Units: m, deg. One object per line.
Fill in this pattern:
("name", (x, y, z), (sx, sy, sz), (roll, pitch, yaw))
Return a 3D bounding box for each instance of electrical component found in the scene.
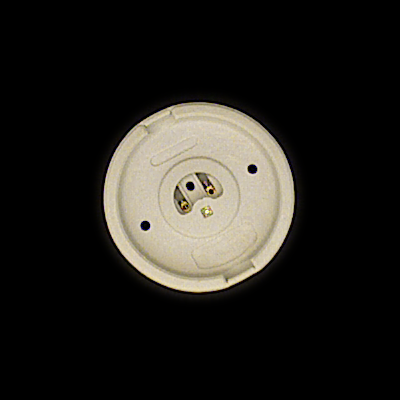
("electrical component", (0.000, 0.000, 0.634), (0.108, 0.108, 0.060), (0, -6, 0))
